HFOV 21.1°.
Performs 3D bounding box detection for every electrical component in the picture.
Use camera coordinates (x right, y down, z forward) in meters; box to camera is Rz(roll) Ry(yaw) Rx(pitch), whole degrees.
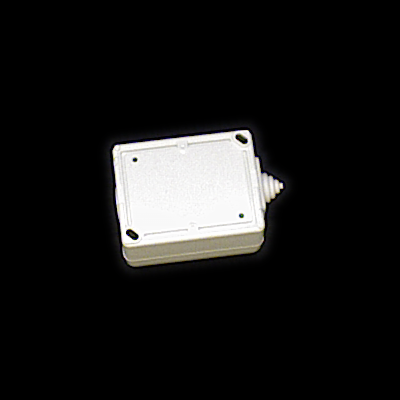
[{"bbox_3d":[0.000,0.000,0.627,0.096,0.062,0.061,-7,-17,-2],"label":"electrical component"}]
